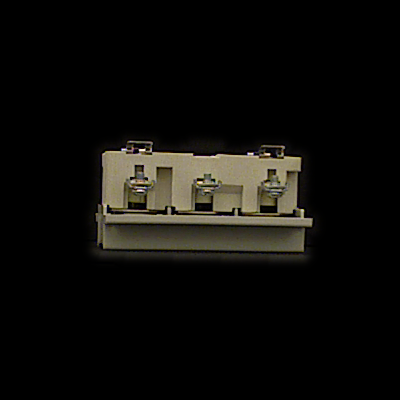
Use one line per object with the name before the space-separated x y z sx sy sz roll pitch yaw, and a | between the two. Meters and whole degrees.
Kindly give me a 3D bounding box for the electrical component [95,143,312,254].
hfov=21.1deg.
electrical component | 0.000 0.000 0.659 0.122 0.063 0.078 2 0 -10
